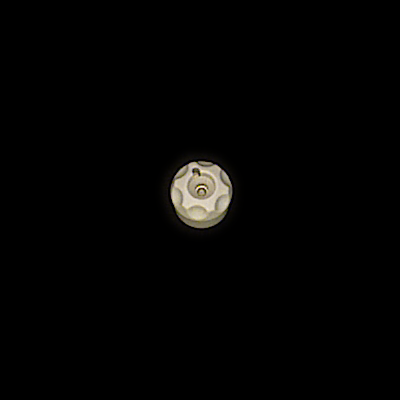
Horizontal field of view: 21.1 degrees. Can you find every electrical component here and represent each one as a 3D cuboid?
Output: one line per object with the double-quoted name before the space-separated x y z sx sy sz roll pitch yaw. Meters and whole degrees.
"electrical component" 0.000 0.000 0.634 0.035 0.035 0.061 0 -16 1
